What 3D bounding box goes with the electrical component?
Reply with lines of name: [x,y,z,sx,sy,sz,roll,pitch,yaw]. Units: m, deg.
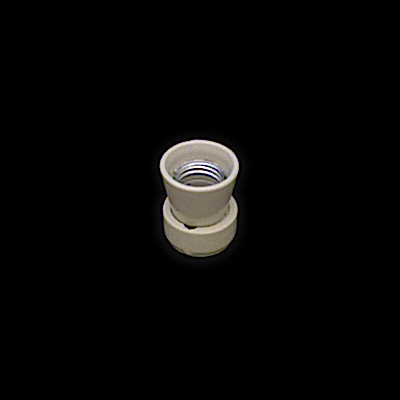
electrical component: [0.000,0.000,0.631,0.045,0.055,0.044,0,41,0]
